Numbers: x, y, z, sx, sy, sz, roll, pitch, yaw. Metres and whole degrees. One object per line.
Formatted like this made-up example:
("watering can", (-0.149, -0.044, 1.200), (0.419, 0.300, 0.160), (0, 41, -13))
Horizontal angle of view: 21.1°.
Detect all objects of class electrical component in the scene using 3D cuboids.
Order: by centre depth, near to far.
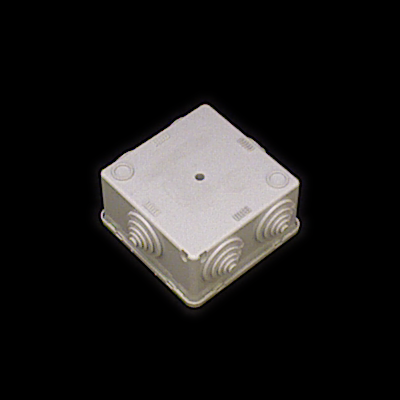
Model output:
("electrical component", (0.000, 0.000, 0.631), (0.100, 0.049, 0.099), (-35, 61, -24))
